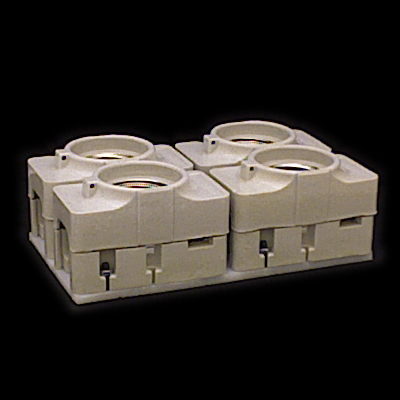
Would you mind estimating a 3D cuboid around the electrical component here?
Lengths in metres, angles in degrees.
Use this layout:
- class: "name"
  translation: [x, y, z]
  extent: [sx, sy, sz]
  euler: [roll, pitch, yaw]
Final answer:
- class: "electrical component"
  translation: [0.000, 0.000, 0.637]
  extent: [0.186, 0.061, 0.104]
  euler: [-7, 22, -21]
